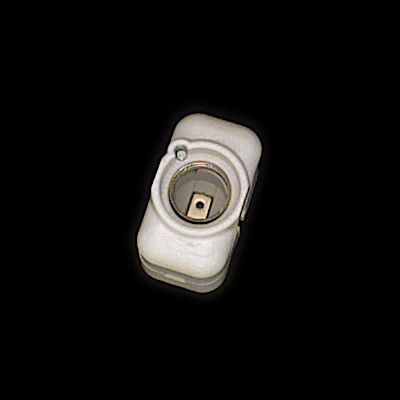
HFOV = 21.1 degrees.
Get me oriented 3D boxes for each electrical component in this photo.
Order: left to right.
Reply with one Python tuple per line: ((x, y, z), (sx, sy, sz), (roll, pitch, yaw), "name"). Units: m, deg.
((0.000, 0.000, 0.634), (0.053, 0.095, 0.059), (17, -16, 5), "electrical component")
